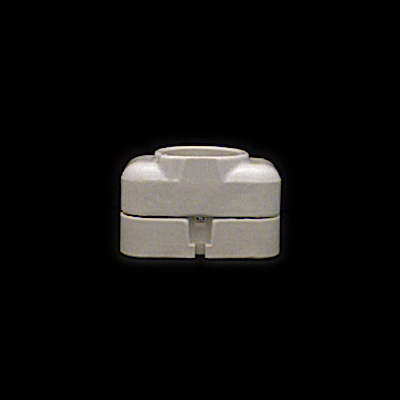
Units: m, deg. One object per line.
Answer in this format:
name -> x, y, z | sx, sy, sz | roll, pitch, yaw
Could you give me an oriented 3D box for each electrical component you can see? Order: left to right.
electrical component -> 0.000, 0.000, 0.649 | 0.095, 0.060, 0.053 | 1, 11, -1
